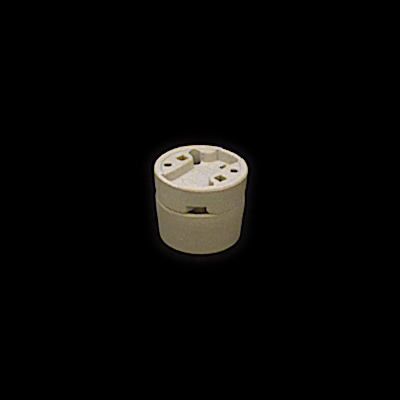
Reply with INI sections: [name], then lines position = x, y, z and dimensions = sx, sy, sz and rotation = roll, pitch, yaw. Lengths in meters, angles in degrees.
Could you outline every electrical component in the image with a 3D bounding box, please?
[electrical component]
position = 0.000, 0.000, 0.640
dimensions = 0.055, 0.047, 0.055
rotation = 1, 32, 0
